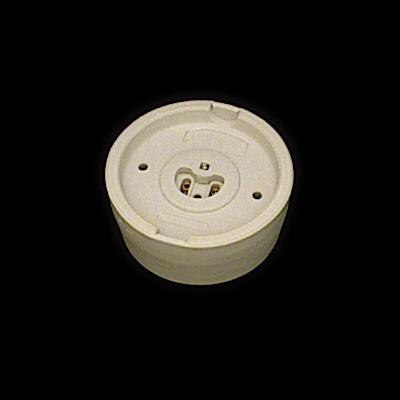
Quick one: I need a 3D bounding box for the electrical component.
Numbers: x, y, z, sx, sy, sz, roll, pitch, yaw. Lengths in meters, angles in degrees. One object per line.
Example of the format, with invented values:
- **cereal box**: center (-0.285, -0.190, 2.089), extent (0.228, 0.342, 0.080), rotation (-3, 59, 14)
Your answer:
- **electrical component**: center (0.000, 0.000, 0.638), extent (0.108, 0.107, 0.061), rotation (0, -37, 0)
